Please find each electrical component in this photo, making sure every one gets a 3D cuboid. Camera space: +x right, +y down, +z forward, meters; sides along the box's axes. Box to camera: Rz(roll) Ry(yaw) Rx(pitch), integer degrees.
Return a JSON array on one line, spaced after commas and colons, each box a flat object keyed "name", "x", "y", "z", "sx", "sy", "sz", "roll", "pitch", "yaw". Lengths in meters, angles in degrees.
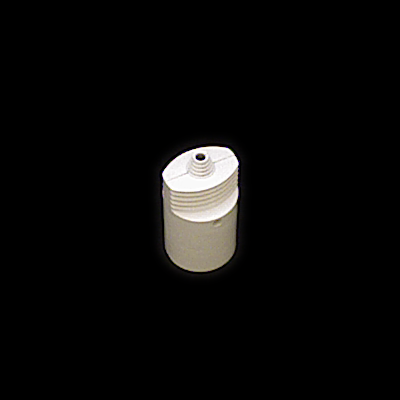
[{"name": "electrical component", "x": 0.000, "y": 0.000, "z": 0.619, "sx": 0.043, "sy": 0.043, "sz": 0.081, "roll": 0, "pitch": -38, "yaw": 0}]
